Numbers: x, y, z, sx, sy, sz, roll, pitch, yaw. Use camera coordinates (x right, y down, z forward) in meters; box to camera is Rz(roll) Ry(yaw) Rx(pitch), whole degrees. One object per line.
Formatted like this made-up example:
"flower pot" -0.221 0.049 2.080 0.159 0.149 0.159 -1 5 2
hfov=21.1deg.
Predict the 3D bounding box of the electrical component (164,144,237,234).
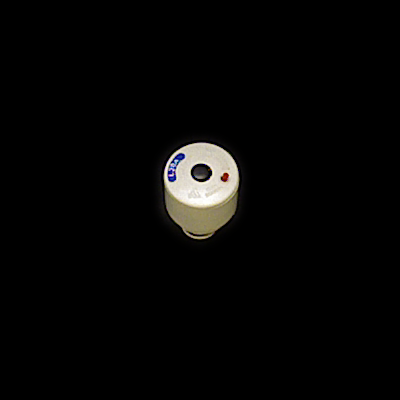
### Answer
"electrical component" 0.000 0.000 0.617 0.040 0.040 0.078 0 -27 -1
